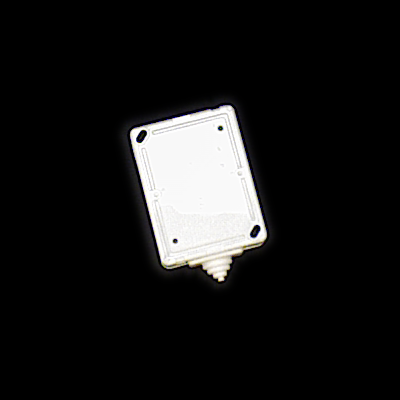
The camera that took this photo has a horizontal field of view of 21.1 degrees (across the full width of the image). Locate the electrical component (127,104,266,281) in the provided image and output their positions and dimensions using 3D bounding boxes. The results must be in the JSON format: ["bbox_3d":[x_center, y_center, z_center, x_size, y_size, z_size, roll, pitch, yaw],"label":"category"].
[{"bbox_3d":[-0.001,0.000,0.626,0.062,0.096,0.060,-14,-7,-2],"label":"electrical component"}]
